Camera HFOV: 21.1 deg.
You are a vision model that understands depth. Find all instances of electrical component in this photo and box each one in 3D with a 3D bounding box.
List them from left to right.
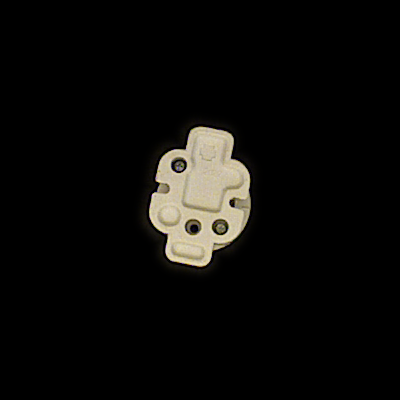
[{"bbox_3d":[0.000,0.000,0.637,0.058,0.079,0.056,10,-7,3],"label":"electrical component"}]
